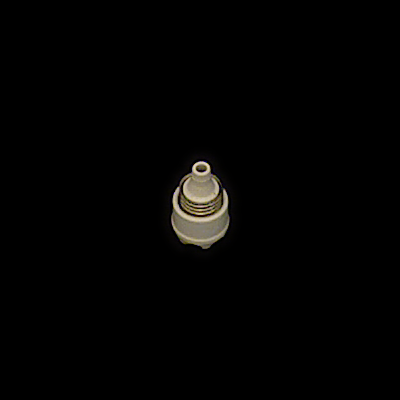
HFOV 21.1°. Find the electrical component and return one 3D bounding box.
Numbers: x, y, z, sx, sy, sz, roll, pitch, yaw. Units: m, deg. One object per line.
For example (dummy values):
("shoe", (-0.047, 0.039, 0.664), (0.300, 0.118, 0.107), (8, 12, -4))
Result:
("electrical component", (0.000, 0.000, 0.640), (0.035, 0.035, 0.062), (0, -37, -2))
